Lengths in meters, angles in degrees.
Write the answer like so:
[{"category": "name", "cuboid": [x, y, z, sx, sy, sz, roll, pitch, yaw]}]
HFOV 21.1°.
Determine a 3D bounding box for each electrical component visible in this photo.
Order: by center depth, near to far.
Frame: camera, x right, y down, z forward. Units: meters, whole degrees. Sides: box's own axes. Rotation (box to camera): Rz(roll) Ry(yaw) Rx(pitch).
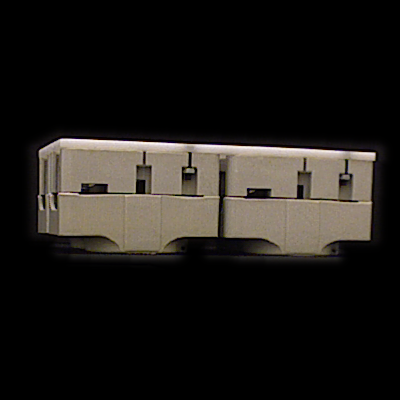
[{"category": "electrical component", "cuboid": [0.000, 0.000, 0.649, 0.186, 0.060, 0.105, 1, -1, -16]}]
